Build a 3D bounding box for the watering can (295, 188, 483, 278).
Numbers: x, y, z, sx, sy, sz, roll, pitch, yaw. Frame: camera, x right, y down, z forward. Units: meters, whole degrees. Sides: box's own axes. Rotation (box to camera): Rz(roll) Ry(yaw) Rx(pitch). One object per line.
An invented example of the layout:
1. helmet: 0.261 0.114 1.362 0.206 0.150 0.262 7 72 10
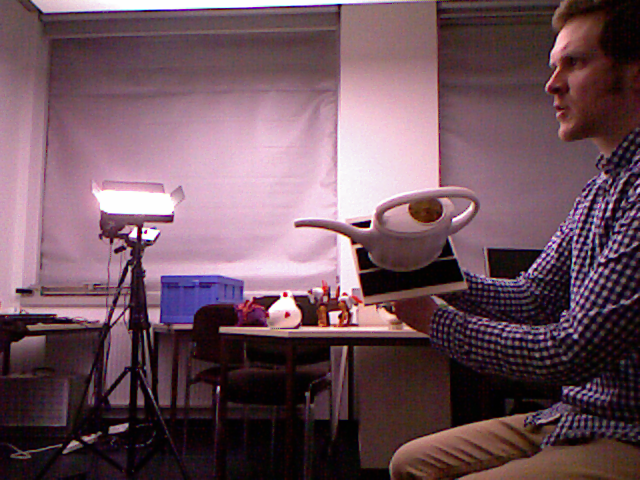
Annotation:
1. watering can: 0.127 -0.013 0.957 0.349 0.106 0.220 -9 -32 -7
